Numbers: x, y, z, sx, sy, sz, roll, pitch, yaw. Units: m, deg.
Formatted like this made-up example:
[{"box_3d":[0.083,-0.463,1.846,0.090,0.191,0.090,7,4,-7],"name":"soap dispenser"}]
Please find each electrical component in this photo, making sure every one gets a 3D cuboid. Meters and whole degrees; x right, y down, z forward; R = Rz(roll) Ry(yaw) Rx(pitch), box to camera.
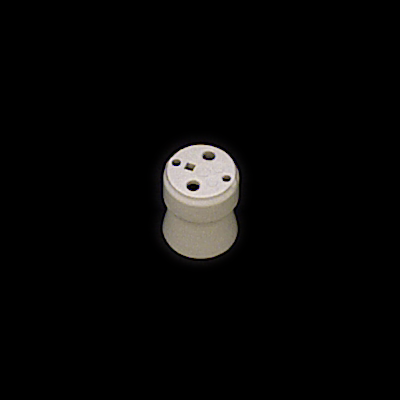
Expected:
[{"box_3d":[0.000,0.000,0.631,0.045,0.044,0.055,0,-37,-1],"name":"electrical component"}]
